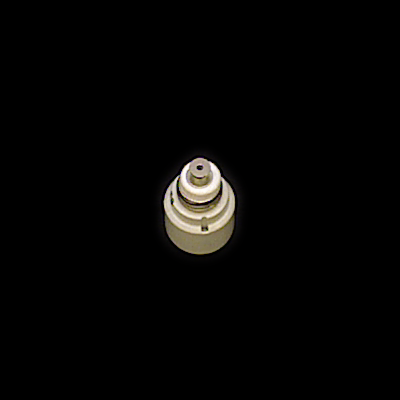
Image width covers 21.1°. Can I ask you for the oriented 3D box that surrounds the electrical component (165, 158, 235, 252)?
[{"bbox_3d":[0.000,0.000,0.619,0.040,0.040,0.078,0,-26,-1],"label":"electrical component"}]
